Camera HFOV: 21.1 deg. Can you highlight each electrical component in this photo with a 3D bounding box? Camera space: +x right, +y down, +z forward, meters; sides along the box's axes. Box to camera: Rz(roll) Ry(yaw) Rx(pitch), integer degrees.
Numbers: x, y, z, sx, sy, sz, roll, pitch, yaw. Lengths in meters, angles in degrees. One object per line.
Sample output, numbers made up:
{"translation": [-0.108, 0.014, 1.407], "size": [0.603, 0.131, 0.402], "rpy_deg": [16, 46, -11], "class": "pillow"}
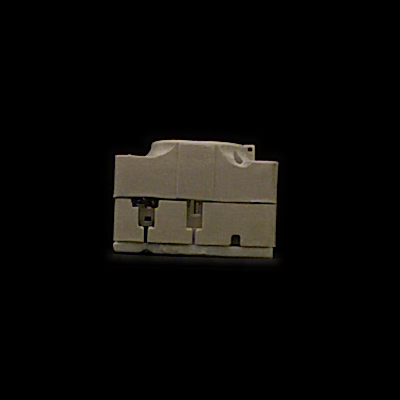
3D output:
{"translation": [0.000, 0.000, 0.657], "size": [0.089, 0.062, 0.150], "rpy_deg": [2, 0, 2], "class": "electrical component"}
